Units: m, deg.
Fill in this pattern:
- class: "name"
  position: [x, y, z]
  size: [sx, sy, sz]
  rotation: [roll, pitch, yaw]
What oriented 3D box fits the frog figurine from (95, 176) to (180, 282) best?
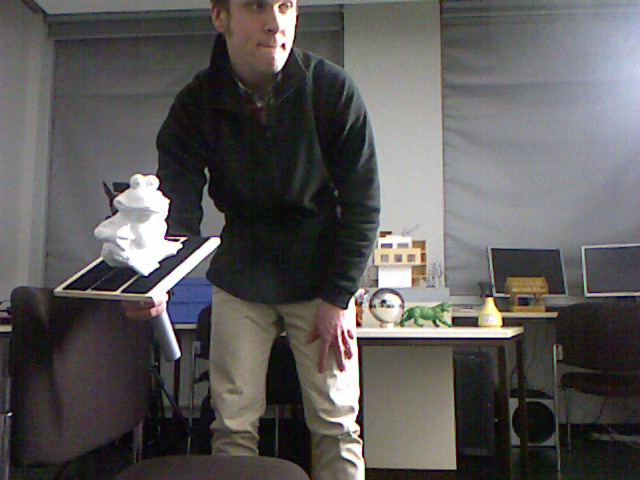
- class: "frog figurine"
  position: [-0.316, -0.030, 0.872]
  size: [0.123, 0.156, 0.139]
  rotation: [14, 35, 39]
